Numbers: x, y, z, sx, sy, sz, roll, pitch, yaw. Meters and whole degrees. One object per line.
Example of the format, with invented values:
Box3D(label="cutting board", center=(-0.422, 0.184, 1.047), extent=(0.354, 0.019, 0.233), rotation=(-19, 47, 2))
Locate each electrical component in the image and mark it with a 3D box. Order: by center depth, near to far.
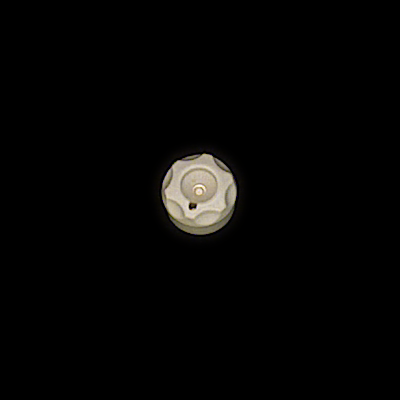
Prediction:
Box3D(label="electrical component", center=(0.000, 0.000, 0.634), extent=(0.043, 0.043, 0.061), rotation=(0, -17, 1))
